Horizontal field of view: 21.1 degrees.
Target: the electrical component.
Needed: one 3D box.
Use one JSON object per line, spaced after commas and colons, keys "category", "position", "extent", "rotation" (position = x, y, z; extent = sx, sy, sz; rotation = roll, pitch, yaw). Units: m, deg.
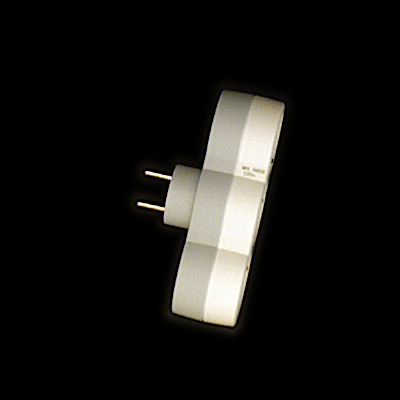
{"category": "electrical component", "position": [0.000, 0.000, 0.639], "extent": [0.073, 0.138, 0.052], "rotation": [13, -6, 3]}
